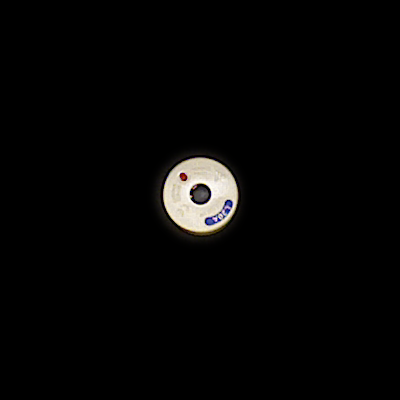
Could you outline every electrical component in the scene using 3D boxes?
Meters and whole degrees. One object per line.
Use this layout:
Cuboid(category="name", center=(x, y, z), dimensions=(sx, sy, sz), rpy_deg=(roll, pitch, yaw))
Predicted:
Cuboid(category="electrical component", center=(0.000, 0.000, 0.618), dimensions=(0.040, 0.040, 0.078), rpy_deg=(0, -6, 1))
